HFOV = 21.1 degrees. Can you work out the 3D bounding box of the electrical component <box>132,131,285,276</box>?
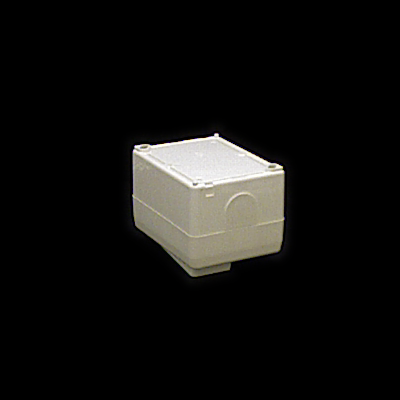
[{"bbox_3d":[0.000,0.000,0.644,0.062,0.062,0.095,-11,24,-27],"label":"electrical component"}]
